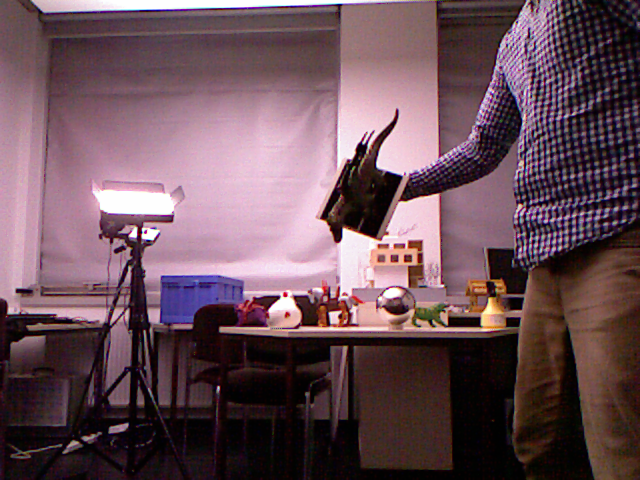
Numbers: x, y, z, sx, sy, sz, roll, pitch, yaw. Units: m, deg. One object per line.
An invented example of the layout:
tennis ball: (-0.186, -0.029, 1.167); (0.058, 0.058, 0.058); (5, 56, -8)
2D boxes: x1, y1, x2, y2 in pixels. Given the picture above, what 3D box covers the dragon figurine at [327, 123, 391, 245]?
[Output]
dragon figurine: (0.106, -0.176, 1.351); (0.123, 0.415, 0.240); (18, -12, 11)
